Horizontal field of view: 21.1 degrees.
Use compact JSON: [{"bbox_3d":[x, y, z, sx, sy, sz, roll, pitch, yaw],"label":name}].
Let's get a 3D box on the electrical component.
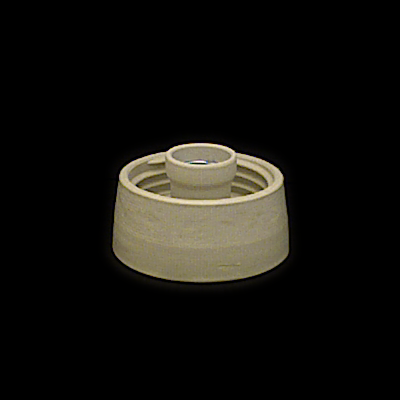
[{"bbox_3d":[0.000,0.000,0.647,0.108,0.061,0.106,1,21,0],"label":"electrical component"}]
